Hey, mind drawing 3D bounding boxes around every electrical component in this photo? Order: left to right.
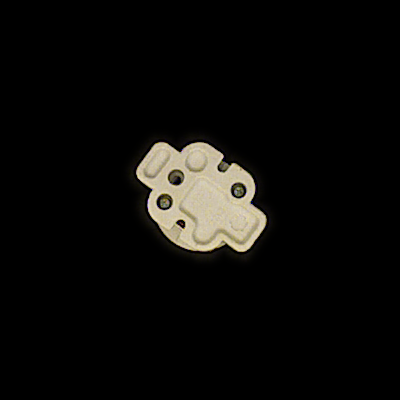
[{"bbox_3d":[0.000,0.000,0.637,0.078,0.058,0.056,35,-5,2],"label":"electrical component"}]
